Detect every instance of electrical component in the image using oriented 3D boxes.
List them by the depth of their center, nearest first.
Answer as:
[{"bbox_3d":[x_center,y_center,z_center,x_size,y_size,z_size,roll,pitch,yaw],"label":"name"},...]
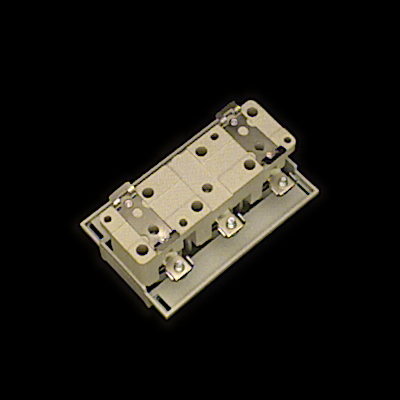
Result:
[{"bbox_3d":[0.000,0.000,0.634,0.122,0.078,0.063,-39,-21,-18],"label":"electrical component"}]
